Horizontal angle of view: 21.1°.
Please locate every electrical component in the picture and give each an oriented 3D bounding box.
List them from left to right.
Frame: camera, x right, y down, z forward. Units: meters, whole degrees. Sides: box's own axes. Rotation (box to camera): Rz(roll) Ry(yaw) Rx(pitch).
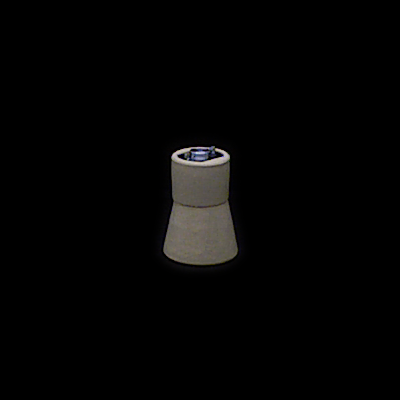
[{"bbox_3d":[0.000,0.000,0.640,0.044,0.066,0.044,0,21,0],"label":"electrical component"}]
